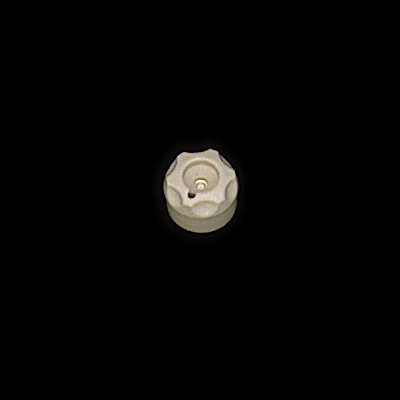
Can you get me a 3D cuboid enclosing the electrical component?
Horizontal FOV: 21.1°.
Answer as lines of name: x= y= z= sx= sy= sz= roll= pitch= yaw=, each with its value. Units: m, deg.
electrical component: x=0.000 y=0.000 z=0.634 sx=0.043 sy=0.043 sz=0.062 roll=0 pitch=-27 yaw=0
